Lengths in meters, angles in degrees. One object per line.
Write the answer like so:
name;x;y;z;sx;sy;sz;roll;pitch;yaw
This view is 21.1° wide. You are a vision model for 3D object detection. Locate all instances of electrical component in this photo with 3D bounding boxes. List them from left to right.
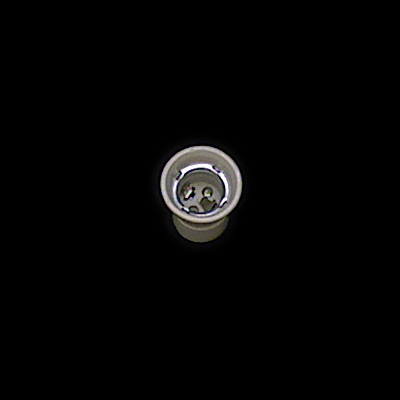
electrical component;0.000;0.000;0.625;0.044;0.044;0.065;0;-18;0
